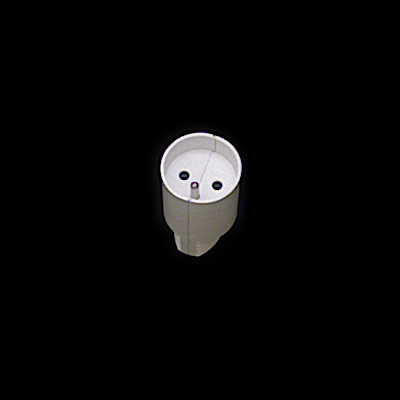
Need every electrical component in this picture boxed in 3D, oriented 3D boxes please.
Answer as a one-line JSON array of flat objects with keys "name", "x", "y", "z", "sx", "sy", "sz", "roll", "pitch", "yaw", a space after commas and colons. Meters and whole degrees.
[{"name": "electrical component", "x": 0.000, "y": 0.000, "z": 0.615, "sx": 0.043, "sy": 0.043, "sz": 0.081, "roll": 0, "pitch": -27, "yaw": 1}]
